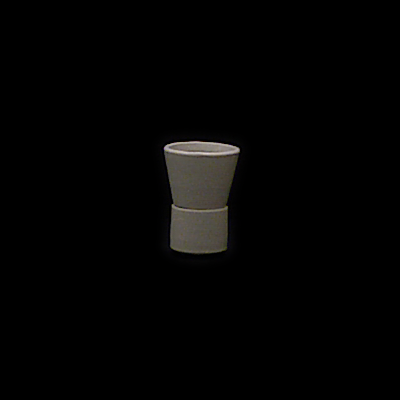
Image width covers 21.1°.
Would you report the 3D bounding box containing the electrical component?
[{"bbox_3d":[0.000,0.000,0.642,0.044,0.066,0.044,2,12,0],"label":"electrical component"}]
